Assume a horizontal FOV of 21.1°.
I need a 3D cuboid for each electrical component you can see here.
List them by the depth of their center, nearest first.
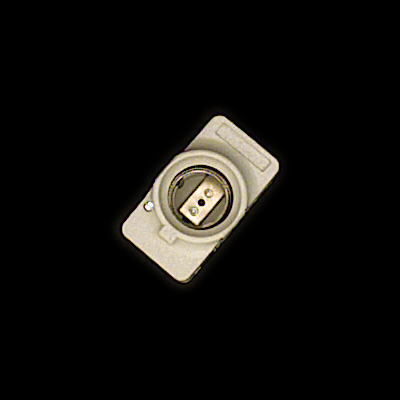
[{"bbox_3d":[0.000,0.000,0.637,0.050,0.090,0.055,39,-4,4],"label":"electrical component"}]
